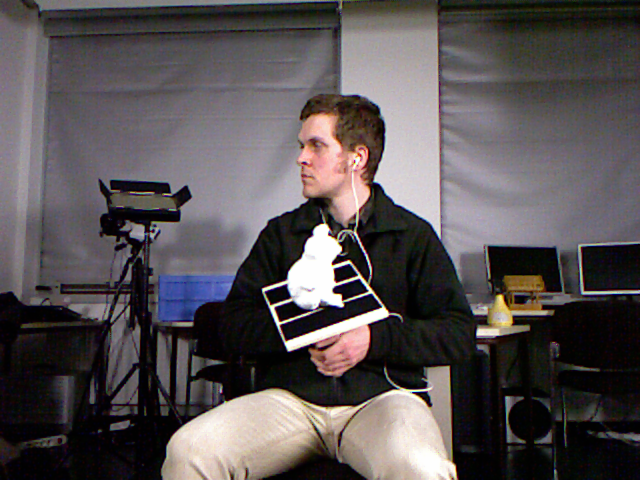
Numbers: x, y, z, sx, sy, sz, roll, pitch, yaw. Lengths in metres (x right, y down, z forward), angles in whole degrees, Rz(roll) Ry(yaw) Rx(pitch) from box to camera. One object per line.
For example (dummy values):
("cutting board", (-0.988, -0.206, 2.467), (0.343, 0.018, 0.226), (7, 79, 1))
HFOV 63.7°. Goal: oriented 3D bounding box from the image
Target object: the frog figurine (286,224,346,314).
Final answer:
("frog figurine", (-0.014, 0.055, 0.994), (0.123, 0.156, 0.141), (-6, 33, 11))
